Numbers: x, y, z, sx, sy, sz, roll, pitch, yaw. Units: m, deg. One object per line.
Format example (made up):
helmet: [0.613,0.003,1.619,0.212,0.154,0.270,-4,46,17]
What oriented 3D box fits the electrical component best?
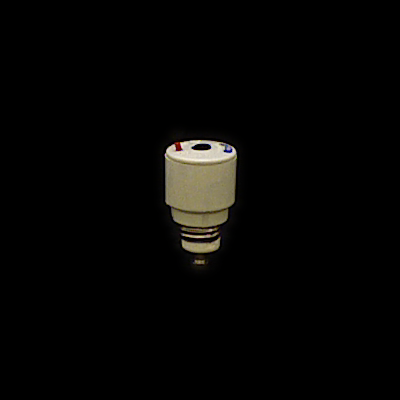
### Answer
electrical component: [0.000,0.000,0.635,0.040,0.079,0.039,1,22,0]
